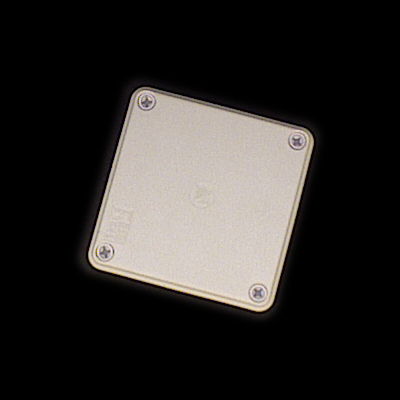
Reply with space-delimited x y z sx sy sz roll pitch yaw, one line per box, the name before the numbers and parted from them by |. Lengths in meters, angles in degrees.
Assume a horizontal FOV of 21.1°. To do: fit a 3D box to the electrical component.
electrical component | 0.000 0.000 0.631 0.109 0.109 0.056 15 -7 1
